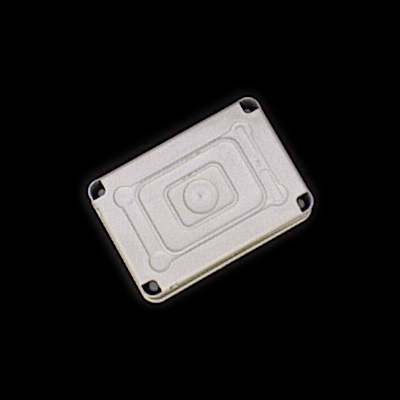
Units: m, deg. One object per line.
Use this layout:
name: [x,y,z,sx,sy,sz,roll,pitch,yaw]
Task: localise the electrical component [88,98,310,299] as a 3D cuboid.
electrical component: [0.000,0.000,0.628,0.113,0.078,0.057,-29,-6,-3]
